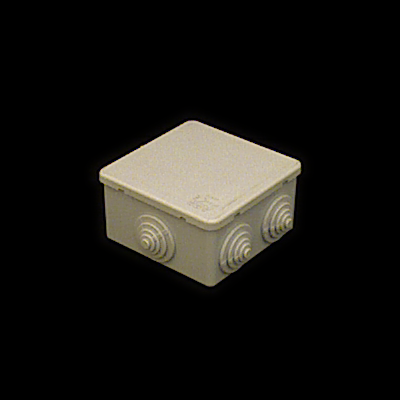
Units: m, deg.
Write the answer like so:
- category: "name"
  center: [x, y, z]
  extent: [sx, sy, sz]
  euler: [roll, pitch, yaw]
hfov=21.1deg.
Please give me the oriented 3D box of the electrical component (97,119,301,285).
- category: "electrical component"
  center: [0.000, 0.000, 0.643]
  extent: [0.098, 0.049, 0.100]
  euler: [24, 39, 32]
